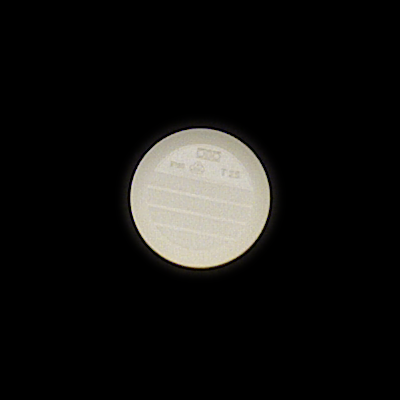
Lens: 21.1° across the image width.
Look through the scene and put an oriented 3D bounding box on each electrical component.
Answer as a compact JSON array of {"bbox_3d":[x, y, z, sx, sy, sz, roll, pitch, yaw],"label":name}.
[{"bbox_3d":[0.000,0.000,0.631,0.080,0.080,0.050,0,-6,0],"label":"electrical component"}]
